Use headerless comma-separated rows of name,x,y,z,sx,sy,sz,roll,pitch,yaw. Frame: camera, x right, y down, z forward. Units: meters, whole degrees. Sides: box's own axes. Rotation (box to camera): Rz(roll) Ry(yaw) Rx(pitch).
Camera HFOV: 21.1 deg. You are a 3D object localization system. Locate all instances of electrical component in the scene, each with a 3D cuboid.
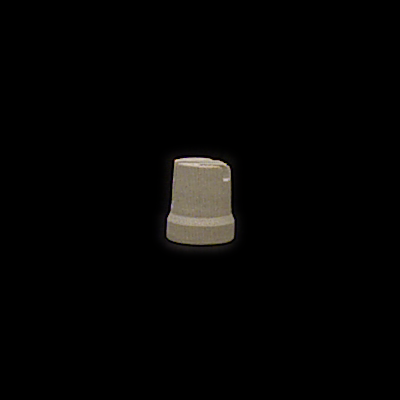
electrical component,0.000,0.000,0.645,0.040,0.046,0.040,1,12,0
